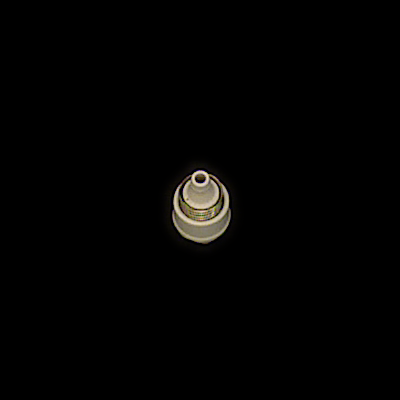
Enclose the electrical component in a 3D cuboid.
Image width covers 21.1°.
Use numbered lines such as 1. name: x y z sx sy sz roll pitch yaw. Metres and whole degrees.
1. electrical component: 0.000 0.000 0.638 0.035 0.035 0.061 0 -25 1
